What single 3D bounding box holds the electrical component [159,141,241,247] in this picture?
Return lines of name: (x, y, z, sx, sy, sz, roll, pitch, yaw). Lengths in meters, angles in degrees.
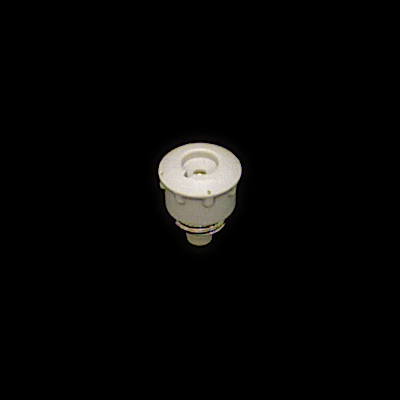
electrical component: (0.000, 0.000, 0.636, 0.048, 0.062, 0.047, 0, 43, 0)
